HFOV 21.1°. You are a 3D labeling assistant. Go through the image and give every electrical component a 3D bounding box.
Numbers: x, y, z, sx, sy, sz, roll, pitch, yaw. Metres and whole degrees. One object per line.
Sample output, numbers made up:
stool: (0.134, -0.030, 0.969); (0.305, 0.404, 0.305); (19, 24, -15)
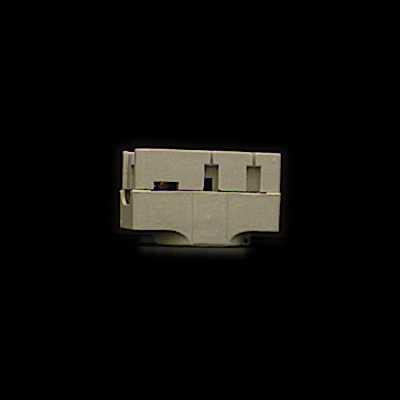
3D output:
electrical component: (0.000, 0.000, 0.657); (0.090, 0.056, 0.050); (2, 1, -16)
